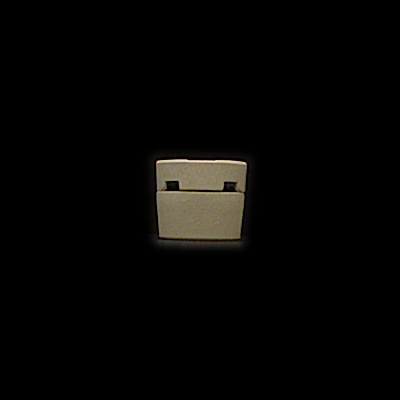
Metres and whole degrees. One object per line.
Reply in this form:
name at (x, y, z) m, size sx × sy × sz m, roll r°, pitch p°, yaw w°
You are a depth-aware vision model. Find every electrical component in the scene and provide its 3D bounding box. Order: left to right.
electrical component at (0.000, 0.000, 0.651) m, size 0.055 × 0.047 × 0.055 m, roll 2°, pitch 1°, yaw 0°
